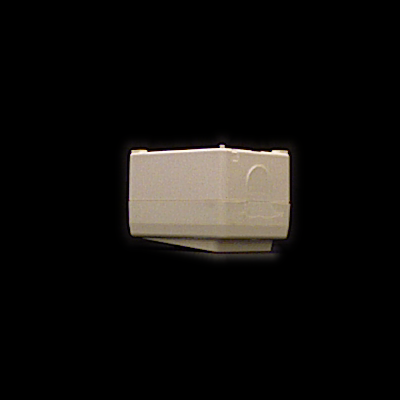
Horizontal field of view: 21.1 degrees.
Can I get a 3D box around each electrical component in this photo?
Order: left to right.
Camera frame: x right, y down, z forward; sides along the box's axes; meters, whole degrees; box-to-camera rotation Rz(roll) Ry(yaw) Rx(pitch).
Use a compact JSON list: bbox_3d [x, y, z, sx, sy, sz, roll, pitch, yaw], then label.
[{"bbox_3d":[0.000,0.000,0.653,0.096,0.061,0.062,0,0,44],"label":"electrical component"}]
